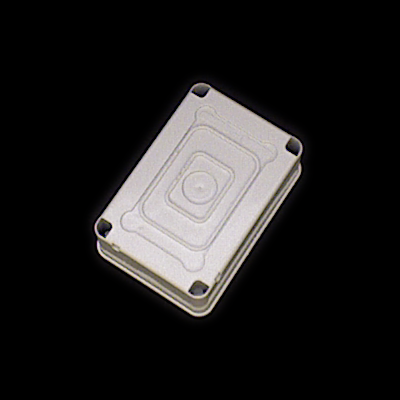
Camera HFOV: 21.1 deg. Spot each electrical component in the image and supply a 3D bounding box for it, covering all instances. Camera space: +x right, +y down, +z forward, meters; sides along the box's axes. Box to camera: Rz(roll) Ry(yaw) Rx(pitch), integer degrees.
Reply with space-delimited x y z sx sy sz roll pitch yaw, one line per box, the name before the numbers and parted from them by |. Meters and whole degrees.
electrical component | 0.000 0.000 0.628 0.078 0.113 0.057 32 -15 9
